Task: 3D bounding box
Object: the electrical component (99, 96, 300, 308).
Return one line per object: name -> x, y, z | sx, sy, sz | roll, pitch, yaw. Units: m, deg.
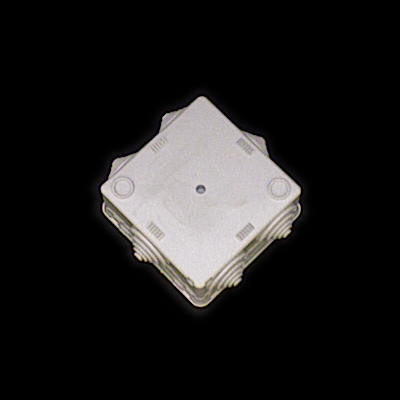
electrical component -> 0.000, 0.000, 0.631 | 0.100, 0.100, 0.048 | -43, -12, -11
